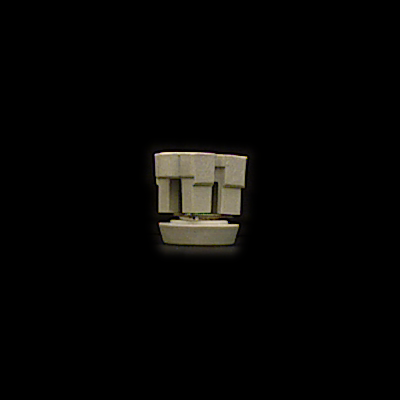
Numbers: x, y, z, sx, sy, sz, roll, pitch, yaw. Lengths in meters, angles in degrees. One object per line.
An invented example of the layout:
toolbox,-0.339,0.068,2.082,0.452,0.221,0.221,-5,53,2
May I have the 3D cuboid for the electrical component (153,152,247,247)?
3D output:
electrical component,0.000,0.000,0.655,0.067,0.055,0.048,1,0,-42
